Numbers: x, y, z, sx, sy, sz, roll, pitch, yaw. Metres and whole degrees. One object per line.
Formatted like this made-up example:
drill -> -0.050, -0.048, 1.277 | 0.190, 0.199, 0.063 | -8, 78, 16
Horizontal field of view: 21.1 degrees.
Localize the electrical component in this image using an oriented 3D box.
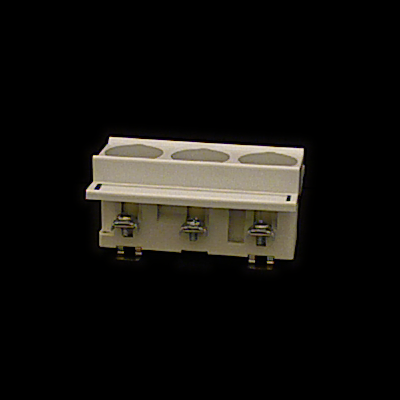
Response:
electrical component -> 0.000, 0.000, 0.653 | 0.121, 0.064, 0.077 | 4, 20, 7
